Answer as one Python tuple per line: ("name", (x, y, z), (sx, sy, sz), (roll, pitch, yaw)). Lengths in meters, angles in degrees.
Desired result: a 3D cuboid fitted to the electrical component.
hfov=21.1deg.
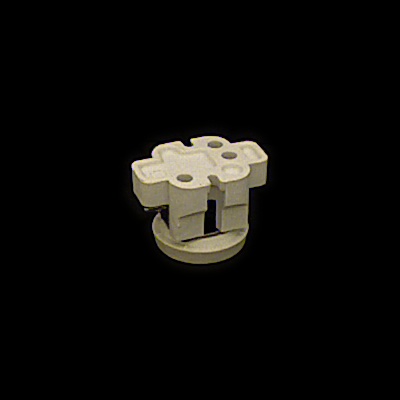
("electrical component", (0.000, 0.000, 0.640), (0.079, 0.057, 0.057), (-13, 35, -18))
